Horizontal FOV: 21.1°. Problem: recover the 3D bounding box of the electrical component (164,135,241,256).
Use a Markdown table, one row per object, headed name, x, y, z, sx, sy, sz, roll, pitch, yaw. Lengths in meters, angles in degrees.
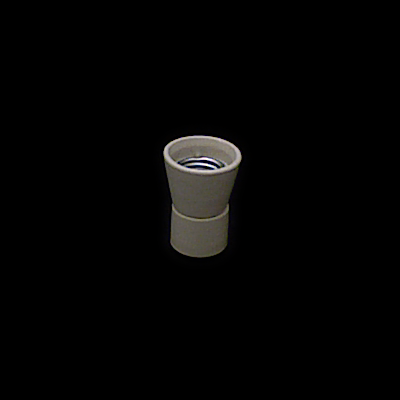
| name | x | y | z | sx | sy | sz | roll | pitch | yaw |
| --- | --- | --- | --- | --- | --- | --- | --- | --- | --- |
| electrical component | 0.000 | 0.000 | 0.634 | 0.044 | 0.066 | 0.044 | 2 | 31 | -1 |
